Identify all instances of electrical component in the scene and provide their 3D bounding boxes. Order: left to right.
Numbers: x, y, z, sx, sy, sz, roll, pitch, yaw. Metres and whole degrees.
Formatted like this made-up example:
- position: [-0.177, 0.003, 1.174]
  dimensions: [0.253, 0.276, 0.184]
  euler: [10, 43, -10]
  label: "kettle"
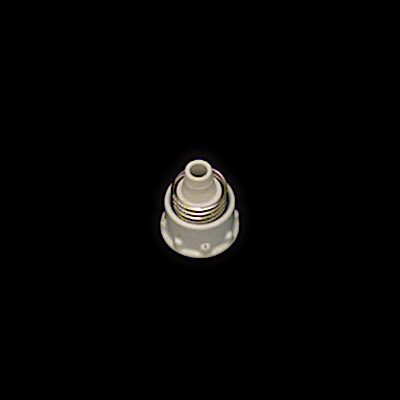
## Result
- position: [0.000, 0.000, 0.634]
  dimensions: [0.048, 0.048, 0.062]
  euler: [0, -36, 1]
  label: "electrical component"
